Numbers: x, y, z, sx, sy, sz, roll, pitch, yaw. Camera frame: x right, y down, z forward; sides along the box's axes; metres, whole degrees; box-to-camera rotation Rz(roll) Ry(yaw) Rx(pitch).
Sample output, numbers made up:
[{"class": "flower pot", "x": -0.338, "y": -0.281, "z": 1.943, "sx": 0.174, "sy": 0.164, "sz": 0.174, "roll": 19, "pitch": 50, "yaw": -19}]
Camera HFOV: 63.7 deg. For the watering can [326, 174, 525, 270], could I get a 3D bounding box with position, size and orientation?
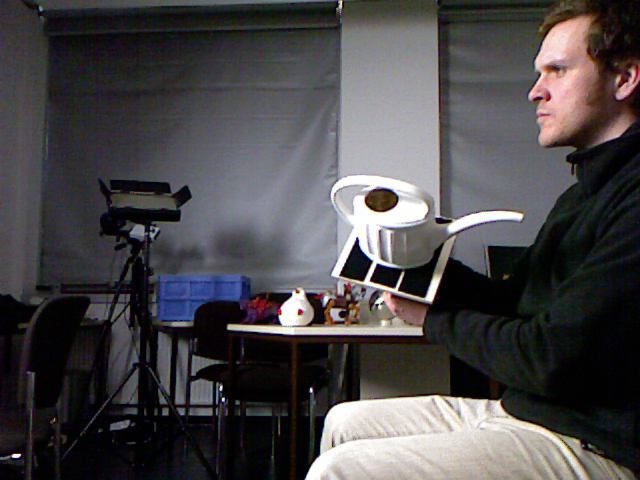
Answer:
[{"class": "watering can", "x": 0.177, "y": -0.024, "z": 0.944, "sx": 0.350, "sy": 0.106, "sz": 0.220, "roll": 15, "pitch": -31, "yaw": 20}]
